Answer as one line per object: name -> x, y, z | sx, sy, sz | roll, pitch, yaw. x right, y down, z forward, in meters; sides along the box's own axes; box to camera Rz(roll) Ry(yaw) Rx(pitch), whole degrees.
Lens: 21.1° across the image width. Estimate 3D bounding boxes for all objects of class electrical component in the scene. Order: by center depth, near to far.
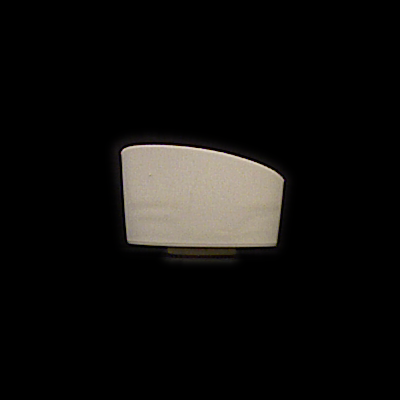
electrical component -> 0.000, 0.000, 0.649 | 0.099, 0.064, 0.099 | 1, 1, 0
